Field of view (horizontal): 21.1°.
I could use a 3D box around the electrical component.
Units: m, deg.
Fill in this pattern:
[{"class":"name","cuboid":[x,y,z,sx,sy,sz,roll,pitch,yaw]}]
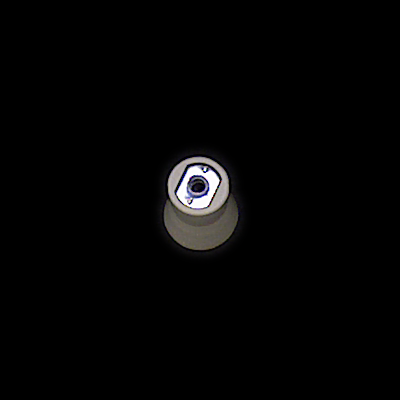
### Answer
[{"class":"electrical component","cuboid":[0.000,0.000,0.625,0.044,0.044,0.065,0,-17,1]}]
